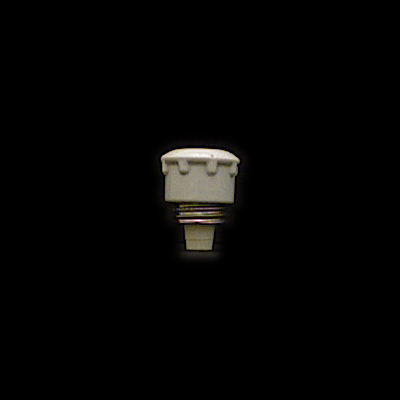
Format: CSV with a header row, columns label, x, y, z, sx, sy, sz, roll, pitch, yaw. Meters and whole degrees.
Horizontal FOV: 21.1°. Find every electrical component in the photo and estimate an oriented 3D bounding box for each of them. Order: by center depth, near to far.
label,x,y,z,sx,sy,sz,roll,pitch,yaw
electrical component,0.000,0.000,0.654,0.048,0.062,0.048,1,1,1
